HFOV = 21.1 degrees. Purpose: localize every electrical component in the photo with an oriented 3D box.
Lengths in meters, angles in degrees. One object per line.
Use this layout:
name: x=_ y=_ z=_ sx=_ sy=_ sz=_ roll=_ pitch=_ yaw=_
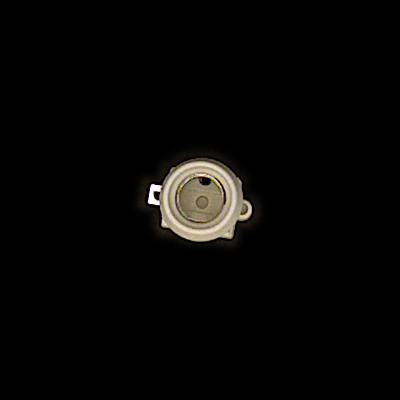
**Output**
electrical component: x=0.000 y=0.000 z=0.639 sx=0.066 sy=0.048 sz=0.055 roll=8 pitch=-7 yaw=1
